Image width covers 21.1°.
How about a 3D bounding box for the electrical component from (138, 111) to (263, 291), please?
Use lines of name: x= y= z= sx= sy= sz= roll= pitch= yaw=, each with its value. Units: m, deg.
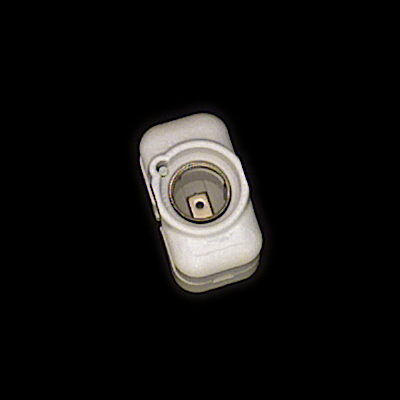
electrical component: x=0.000 y=0.000 z=0.634 sx=0.054 sy=0.095 sz=0.059 roll=-17 pitch=-15 yaw=-5
